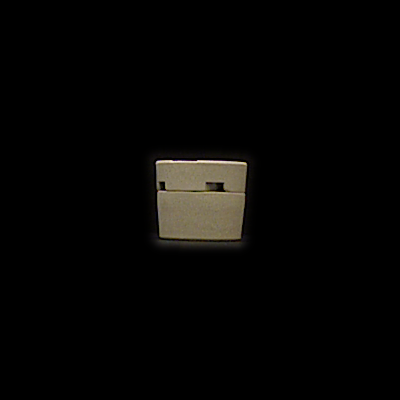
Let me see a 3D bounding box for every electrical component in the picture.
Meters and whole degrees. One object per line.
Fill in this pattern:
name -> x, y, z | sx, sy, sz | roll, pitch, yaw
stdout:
electrical component -> 0.000, 0.000, 0.649 | 0.055, 0.047, 0.055 | 1, 0, 0
